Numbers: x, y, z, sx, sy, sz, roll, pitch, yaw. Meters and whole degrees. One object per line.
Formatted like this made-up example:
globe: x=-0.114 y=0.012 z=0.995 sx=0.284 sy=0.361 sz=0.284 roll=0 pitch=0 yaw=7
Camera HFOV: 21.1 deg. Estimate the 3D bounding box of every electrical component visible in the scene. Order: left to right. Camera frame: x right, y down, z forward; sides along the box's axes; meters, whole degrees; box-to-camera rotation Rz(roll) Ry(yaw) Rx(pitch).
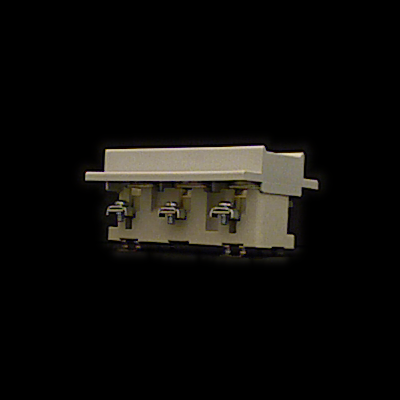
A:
electrical component: x=0.000 y=0.000 z=0.664 sx=0.121 sy=0.063 sz=0.079 roll=2 pitch=0 yaw=38
